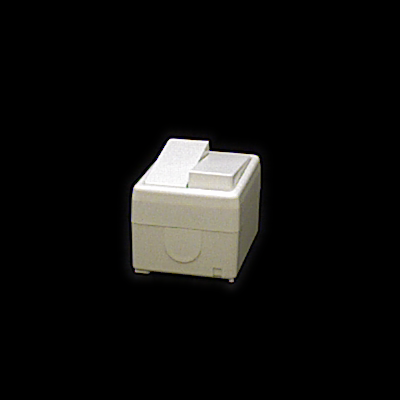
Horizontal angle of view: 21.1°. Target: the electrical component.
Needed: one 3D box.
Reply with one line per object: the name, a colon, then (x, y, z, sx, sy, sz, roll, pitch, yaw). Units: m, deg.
electrical component: (0.000, 0.000, 0.641, 0.061, 0.061, 0.095, 5, 21, 11)
